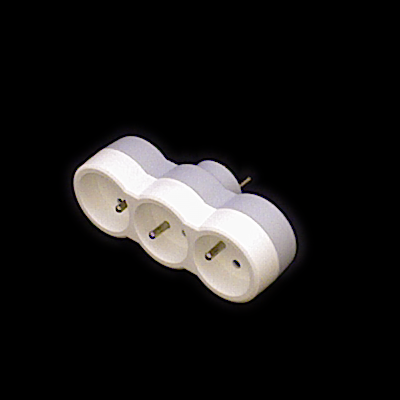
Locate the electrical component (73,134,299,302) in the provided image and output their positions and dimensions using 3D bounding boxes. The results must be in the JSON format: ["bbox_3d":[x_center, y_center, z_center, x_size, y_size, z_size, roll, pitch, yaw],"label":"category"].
[{"bbox_3d":[0.000,0.000,0.635,0.137,0.052,0.073,27,46,27],"label":"electrical component"}]
